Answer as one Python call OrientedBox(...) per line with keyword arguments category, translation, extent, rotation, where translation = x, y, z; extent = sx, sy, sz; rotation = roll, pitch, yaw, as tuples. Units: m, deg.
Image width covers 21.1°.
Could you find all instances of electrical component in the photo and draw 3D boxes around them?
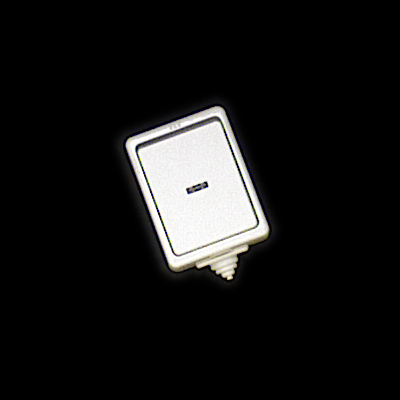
OrientedBox(category="electrical component", translation=(0.000, 0.000, 0.626), extent=(0.062, 0.096, 0.061), rotation=(-20, -7, -2))
